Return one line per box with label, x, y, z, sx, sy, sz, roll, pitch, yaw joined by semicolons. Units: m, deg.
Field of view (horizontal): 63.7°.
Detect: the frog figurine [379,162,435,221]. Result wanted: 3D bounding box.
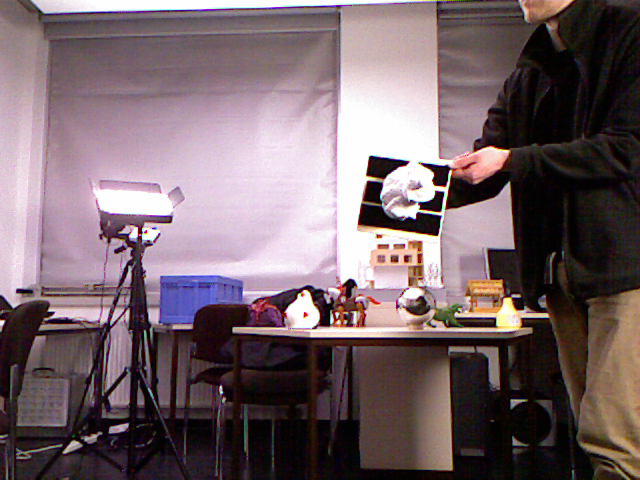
frog figurine;0.199;-0.115;1.189;0.123;0.138;0.159;28;-3;5
